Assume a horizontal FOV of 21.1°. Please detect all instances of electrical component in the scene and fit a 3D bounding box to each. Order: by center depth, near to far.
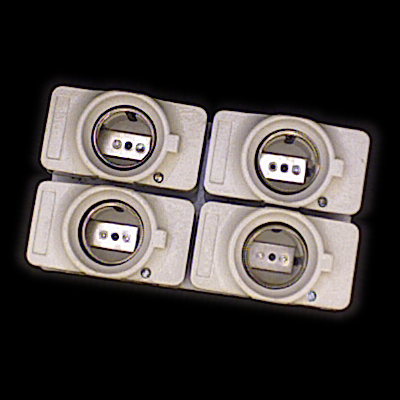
[{"bbox_3d":[0.000,0.000,0.627,0.186,0.106,0.060,8,-7,1],"label":"electrical component"}]
